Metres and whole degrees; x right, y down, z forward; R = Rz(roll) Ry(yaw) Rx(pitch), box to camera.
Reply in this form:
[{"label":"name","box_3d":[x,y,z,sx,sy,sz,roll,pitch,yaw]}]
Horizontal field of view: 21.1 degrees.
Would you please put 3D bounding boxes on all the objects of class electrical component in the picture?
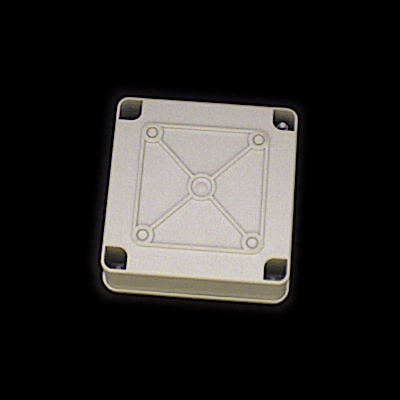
[{"label":"electrical component","box_3d":[0.000,0.000,0.629,0.109,0.109,0.056,4,-18,1]}]
